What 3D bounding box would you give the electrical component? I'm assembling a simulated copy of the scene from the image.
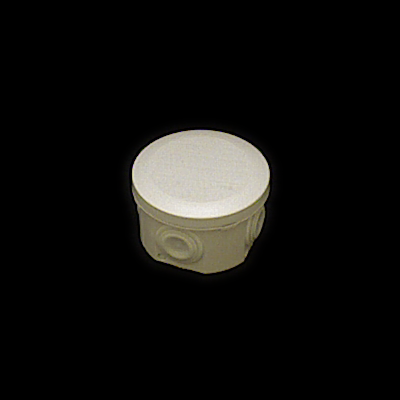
[{"bbox_3d":[0.000,0.000,0.633,0.080,0.051,0.079,1,42,0],"label":"electrical component"}]
